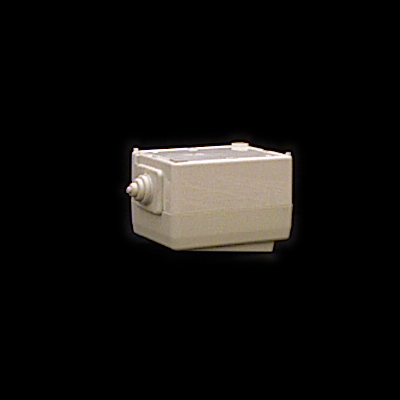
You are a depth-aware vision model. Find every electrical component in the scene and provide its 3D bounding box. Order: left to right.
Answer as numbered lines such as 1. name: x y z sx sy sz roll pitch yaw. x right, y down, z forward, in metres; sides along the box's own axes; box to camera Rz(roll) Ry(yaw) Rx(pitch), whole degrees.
1. electrical component: 0.000 0.000 0.646 0.096 0.061 0.061 -5 12 -28
